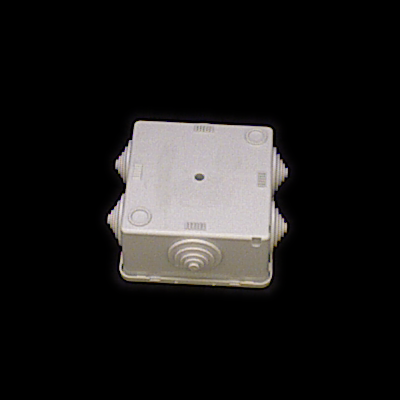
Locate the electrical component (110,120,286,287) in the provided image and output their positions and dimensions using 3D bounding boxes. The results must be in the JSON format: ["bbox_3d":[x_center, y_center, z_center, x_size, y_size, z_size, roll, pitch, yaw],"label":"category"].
[{"bbox_3d":[0.000,0.000,0.632,0.100,0.099,0.049,3,-37,2],"label":"electrical component"}]
